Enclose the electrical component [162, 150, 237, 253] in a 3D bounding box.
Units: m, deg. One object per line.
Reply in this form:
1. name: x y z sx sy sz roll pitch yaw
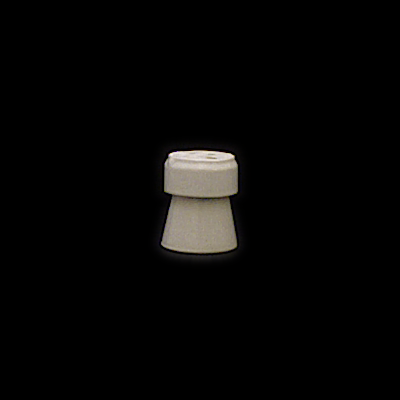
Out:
1. electrical component: 0.000 0.000 0.643 0.045 0.055 0.044 1 12 0
